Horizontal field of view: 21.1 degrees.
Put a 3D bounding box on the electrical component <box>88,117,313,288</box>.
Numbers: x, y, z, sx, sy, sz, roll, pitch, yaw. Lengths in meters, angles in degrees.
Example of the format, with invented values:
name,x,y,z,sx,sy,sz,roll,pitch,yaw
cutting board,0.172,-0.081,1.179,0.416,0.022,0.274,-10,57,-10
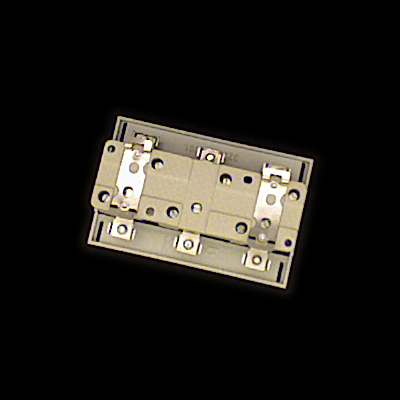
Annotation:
name,x,y,z,sx,sy,sz,roll,pitch,yaw
electrical component,0.000,0.000,0.635,0.121,0.079,0.063,13,-6,1
